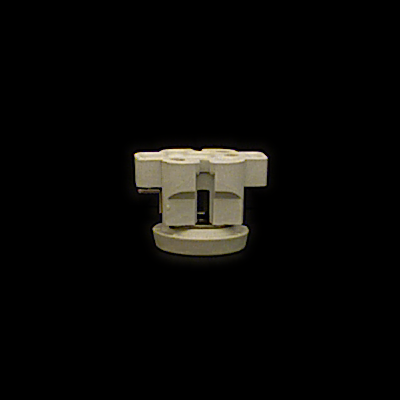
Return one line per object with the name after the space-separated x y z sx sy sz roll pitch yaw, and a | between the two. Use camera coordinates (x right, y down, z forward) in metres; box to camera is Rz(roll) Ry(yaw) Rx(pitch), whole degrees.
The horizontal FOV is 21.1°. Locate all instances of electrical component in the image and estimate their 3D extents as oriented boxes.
0.000 0.000 0.649 0.079 0.057 0.057 -2 12 -7 | electrical component
